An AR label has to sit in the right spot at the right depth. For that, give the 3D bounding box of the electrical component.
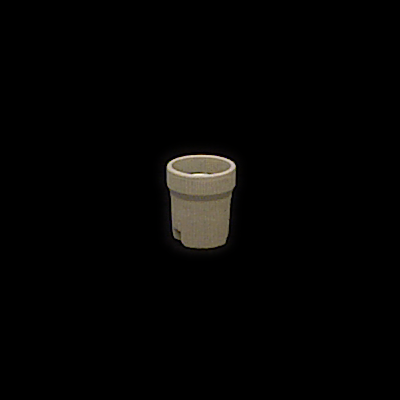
[{"bbox_3d":[0.000,0.000,0.640,0.040,0.047,0.039,1,21,0],"label":"electrical component"}]
